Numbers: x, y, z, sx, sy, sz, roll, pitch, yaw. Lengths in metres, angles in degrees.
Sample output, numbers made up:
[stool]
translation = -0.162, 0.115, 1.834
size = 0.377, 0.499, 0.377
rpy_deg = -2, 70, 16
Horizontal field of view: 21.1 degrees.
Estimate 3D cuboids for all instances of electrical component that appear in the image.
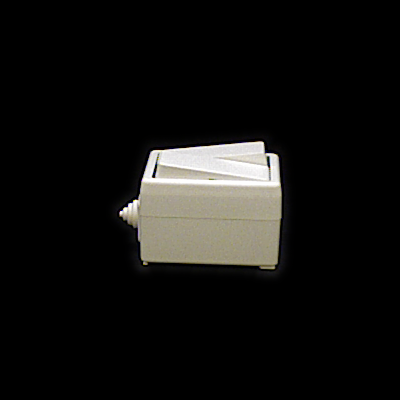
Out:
[electrical component]
translation = 0.000, 0.000, 0.639
size = 0.096, 0.061, 0.061
rpy_deg = 2, 21, 2
